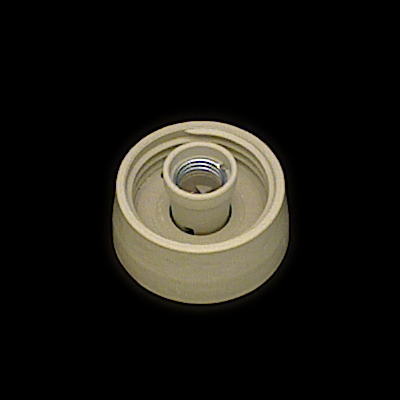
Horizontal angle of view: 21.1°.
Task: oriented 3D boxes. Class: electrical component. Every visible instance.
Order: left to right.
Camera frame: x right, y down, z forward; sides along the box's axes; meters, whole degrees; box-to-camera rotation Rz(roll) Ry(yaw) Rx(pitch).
[{"bbox_3d":[0.000,0.000,0.636,0.108,0.107,0.060,0,-37,0],"label":"electrical component"}]
